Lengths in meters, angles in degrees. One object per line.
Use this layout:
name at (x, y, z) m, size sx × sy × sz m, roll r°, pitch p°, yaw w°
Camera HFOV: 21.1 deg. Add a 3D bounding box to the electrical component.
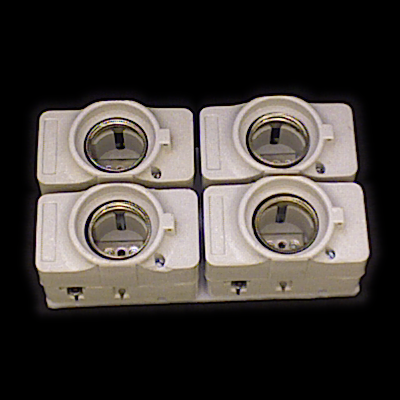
electrical component at (0.000, 0.000, 0.626) m, size 0.186 × 0.105 × 0.060 m, roll -2°, pitch -27°, yaw -2°
